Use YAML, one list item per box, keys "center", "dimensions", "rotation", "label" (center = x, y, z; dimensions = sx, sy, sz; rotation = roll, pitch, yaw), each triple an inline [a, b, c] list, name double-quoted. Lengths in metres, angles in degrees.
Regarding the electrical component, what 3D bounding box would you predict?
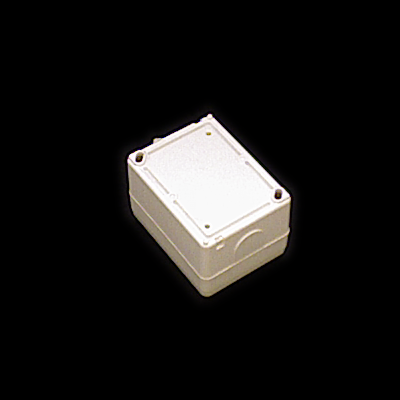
- center: [0.000, 0.000, 0.631]
  dimensions: [0.062, 0.096, 0.061]
  rotation: [-29, -33, -21]
  label: "electrical component"
